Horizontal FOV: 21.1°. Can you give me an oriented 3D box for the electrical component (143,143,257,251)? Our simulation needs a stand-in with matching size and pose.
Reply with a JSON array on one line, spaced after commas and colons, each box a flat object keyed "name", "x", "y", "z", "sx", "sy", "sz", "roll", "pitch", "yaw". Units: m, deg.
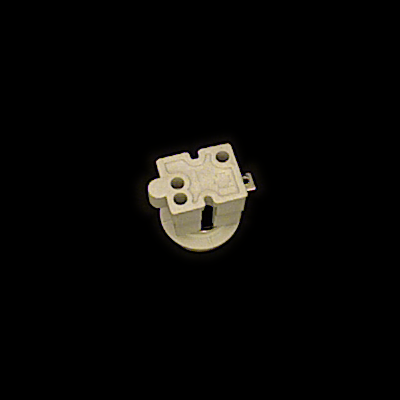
[{"name": "electrical component", "x": 0.000, "y": 0.000, "z": 0.637, "sx": 0.067, "sy": 0.048, "sz": 0.055, "roll": -14, "pitch": -27, "yaw": -8}]
